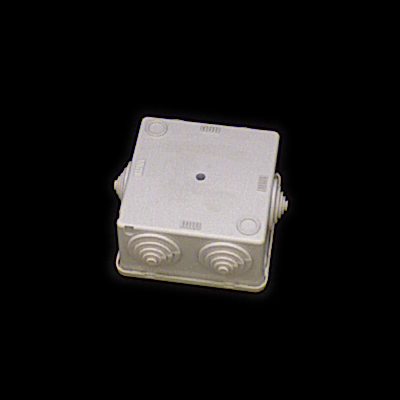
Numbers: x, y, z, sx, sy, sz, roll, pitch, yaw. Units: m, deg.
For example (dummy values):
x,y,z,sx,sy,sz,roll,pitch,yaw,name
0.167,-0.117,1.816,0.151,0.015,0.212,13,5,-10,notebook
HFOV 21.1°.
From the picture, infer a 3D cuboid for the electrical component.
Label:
x,y,z,sx,sy,sz,roll,pitch,yaw,name
0.000,0.000,0.632,0.099,0.099,0.049,7,-37,5,electrical component
